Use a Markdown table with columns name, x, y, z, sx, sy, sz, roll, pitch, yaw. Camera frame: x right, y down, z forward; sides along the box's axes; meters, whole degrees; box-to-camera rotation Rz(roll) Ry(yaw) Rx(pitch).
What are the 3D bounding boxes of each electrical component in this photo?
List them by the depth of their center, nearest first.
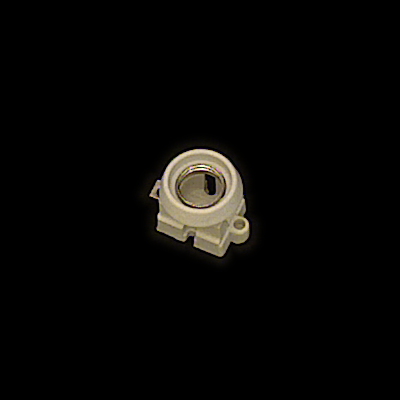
| name | x | y | z | sx | sy | sz | roll | pitch | yaw |
| --- | --- | --- | --- | --- | --- | --- | --- | --- | --- |
| electrical component | 0.000 | 0.000 | 0.637 | 0.066 | 0.049 | 0.055 | 21 | -26 | 10 |
